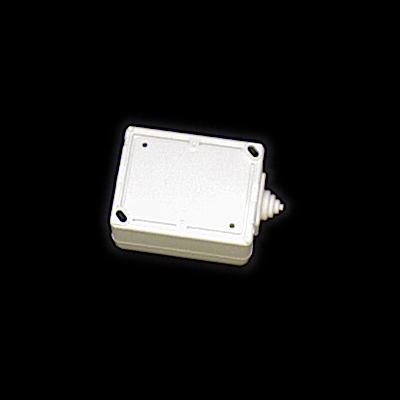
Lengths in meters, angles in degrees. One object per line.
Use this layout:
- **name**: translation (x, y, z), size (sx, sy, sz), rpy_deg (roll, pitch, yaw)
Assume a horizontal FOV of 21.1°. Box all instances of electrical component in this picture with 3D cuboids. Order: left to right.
- **electrical component**: translation (0.000, 0.000, 0.626), size (0.096, 0.062, 0.060), rpy_deg (8, -17, 2)
